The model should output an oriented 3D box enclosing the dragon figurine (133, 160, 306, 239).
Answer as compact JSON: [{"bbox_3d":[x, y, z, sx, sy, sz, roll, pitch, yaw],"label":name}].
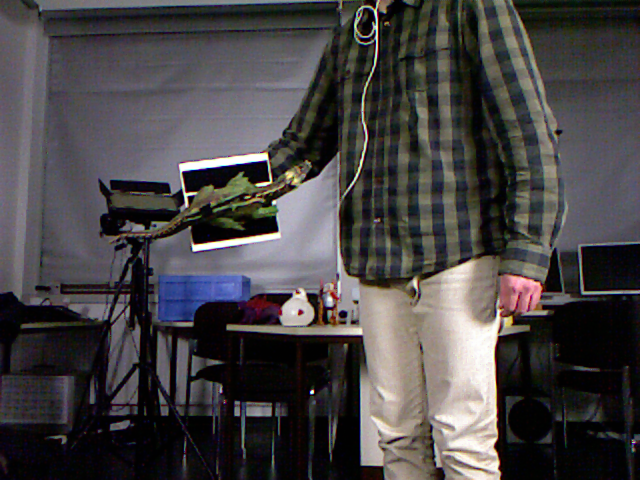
[{"bbox_3d":[-0.216,-0.072,1.071,0.412,0.122,0.243,-23,1,-6],"label":"dragon figurine"}]
